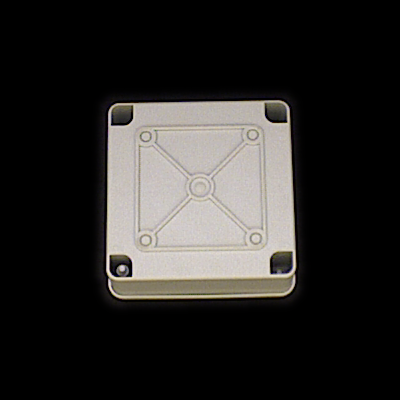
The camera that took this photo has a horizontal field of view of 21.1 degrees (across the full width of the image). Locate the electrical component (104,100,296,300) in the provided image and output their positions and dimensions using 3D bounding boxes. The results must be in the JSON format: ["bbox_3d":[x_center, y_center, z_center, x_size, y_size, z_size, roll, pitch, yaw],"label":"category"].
[{"bbox_3d":[0.000,0.000,0.627,0.109,0.109,0.056,-1,-17,0],"label":"electrical component"}]
